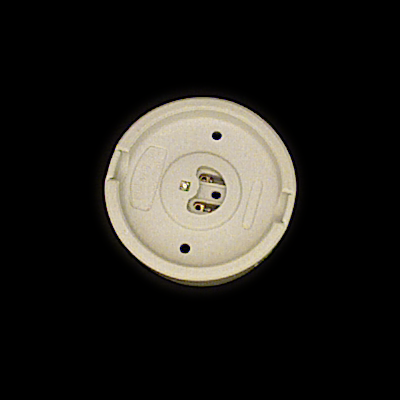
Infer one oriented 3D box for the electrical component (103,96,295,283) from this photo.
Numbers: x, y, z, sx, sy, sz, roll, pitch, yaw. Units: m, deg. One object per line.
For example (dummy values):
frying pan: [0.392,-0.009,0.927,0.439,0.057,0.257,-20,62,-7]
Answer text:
electrical component: [0.000,0.000,0.633,0.108,0.108,0.060,0,-16,0]
